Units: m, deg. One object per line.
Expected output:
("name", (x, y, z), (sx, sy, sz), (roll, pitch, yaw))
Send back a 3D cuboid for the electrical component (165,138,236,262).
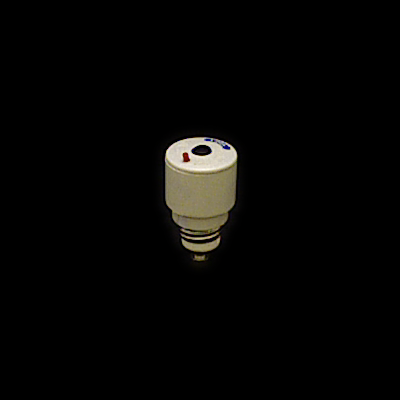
("electrical component", (0.000, 0.000, 0.628), (0.040, 0.079, 0.039), (1, 32, 0))
